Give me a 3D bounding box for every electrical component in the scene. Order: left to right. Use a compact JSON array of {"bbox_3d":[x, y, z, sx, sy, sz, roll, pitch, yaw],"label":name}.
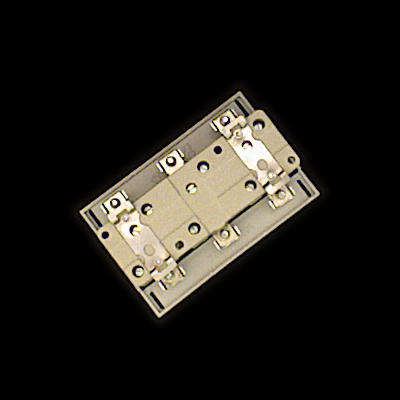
[{"bbox_3d":[0.000,0.000,0.634,0.122,0.079,0.063,-37,-4,-3],"label":"electrical component"}]
